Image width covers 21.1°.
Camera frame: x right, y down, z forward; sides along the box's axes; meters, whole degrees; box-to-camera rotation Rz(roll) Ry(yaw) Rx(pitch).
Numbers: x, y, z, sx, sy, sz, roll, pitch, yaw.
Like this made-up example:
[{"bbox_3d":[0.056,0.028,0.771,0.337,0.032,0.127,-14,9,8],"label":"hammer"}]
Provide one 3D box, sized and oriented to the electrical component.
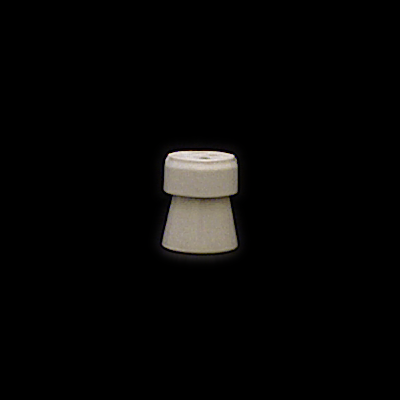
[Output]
[{"bbox_3d":[0.000,0.000,0.643,0.045,0.055,0.044,1,12,0],"label":"electrical component"}]
